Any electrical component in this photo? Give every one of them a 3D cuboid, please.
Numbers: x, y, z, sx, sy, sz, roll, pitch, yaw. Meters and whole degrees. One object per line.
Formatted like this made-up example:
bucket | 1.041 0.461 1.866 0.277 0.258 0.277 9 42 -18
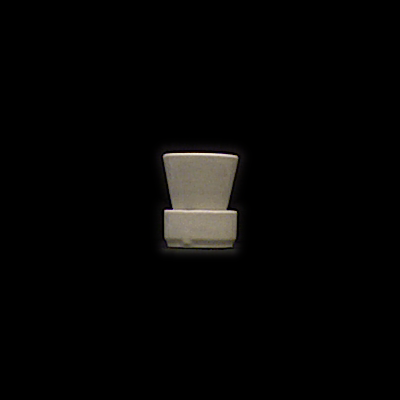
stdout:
electrical component | 0.000 0.000 0.648 0.045 0.055 0.045 1 0 0
